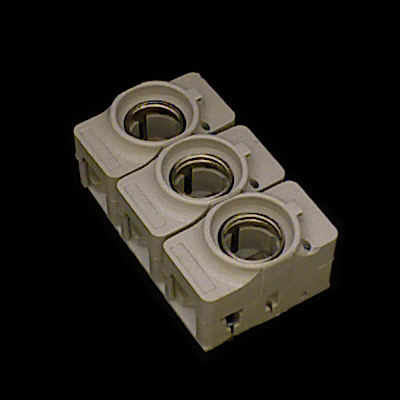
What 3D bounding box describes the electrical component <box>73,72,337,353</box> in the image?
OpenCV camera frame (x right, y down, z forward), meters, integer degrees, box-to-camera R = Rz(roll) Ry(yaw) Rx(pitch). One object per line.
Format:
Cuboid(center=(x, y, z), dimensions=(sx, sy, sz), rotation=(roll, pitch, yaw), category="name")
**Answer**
Cuboid(center=(0.000, 0.000, 0.634), dimensions=(0.089, 0.148, 0.062), rotation=(-27, -32, -20), category="electrical component")
